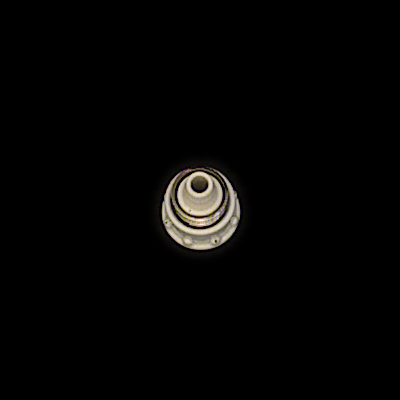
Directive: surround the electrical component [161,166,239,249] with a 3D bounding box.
[{"bbox_3d":[0.000,0.000,0.634,0.048,0.048,0.061,0,-17,0],"label":"electrical component"}]
